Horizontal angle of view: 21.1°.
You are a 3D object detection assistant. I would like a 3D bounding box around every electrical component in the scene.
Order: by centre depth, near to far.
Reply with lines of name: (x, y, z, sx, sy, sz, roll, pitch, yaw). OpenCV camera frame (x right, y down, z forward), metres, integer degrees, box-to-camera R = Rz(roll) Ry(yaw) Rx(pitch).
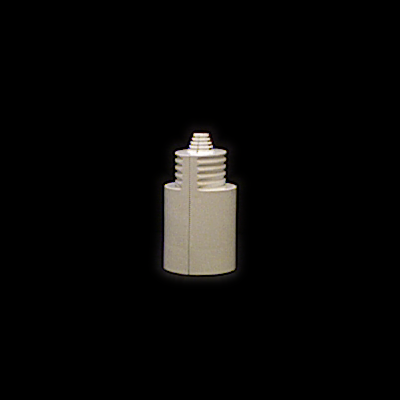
electrical component: (0.000, 0.000, 0.643, 0.043, 0.081, 0.043, 1, 11, 0)
